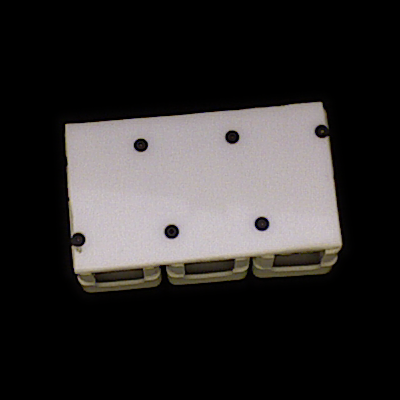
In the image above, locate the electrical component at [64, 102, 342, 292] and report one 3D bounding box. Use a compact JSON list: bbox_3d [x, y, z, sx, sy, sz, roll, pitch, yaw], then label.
[{"bbox_3d":[0.000,0.000,0.631,0.150,0.089,0.062,-5,-17,-2],"label":"electrical component"}]
